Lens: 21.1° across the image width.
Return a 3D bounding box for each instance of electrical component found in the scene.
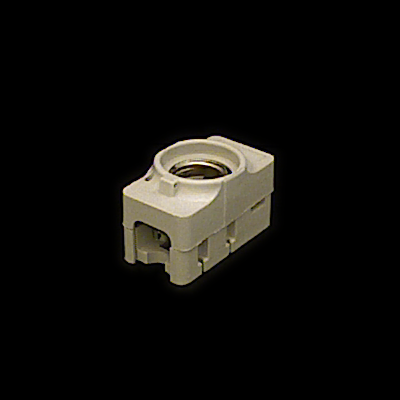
[{"bbox_3d":[0.000,0.000,0.643,0.049,0.056,0.089,23,38,31],"label":"electrical component"}]
